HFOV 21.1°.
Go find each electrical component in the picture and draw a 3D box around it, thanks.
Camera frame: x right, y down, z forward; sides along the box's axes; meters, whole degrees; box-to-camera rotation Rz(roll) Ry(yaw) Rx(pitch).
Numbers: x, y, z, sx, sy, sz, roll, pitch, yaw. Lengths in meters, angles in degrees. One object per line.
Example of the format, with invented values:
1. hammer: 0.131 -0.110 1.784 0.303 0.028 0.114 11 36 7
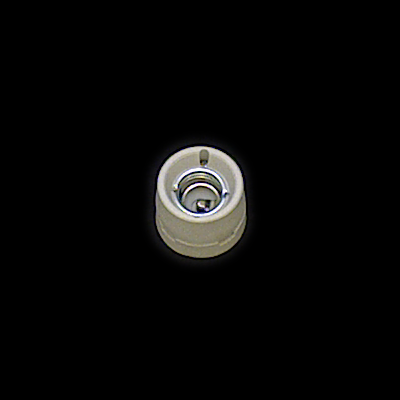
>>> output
1. electrical component: 0.000 0.000 0.632 0.055 0.056 0.047 0 -26 1
